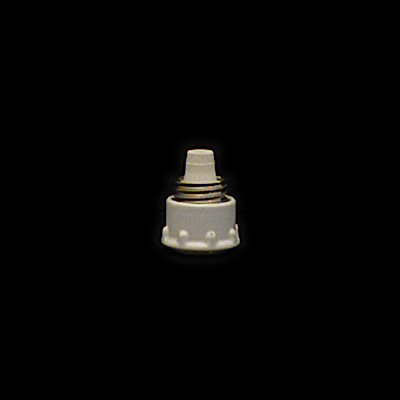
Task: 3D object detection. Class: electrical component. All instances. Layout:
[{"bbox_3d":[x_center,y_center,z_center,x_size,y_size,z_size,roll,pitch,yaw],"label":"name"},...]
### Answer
[{"bbox_3d":[0.000,0.000,0.650,0.048,0.062,0.048,0,11,1],"label":"electrical component"}]
